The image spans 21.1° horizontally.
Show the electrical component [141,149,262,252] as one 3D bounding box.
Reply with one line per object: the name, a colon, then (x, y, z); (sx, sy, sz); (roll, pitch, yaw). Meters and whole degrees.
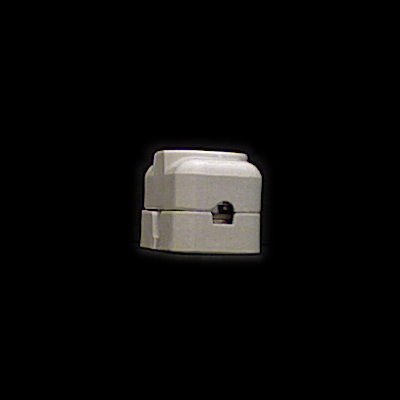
electrical component: (0.000, 0.000, 0.656); (0.054, 0.059, 0.094); (1, 0, -19)
